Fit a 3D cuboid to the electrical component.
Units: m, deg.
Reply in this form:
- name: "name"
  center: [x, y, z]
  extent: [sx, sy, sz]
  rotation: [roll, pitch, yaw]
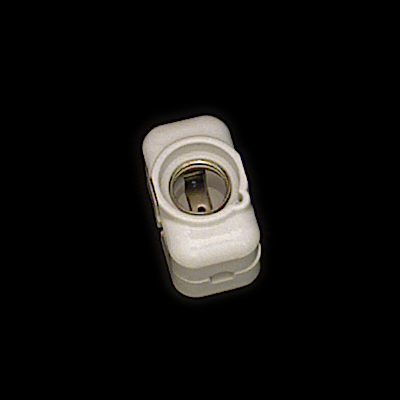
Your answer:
- name: "electrical component"
  center: [0.000, 0.000, 0.634]
  extent: [0.054, 0.095, 0.059]
  rotation: [-14, -25, -6]
